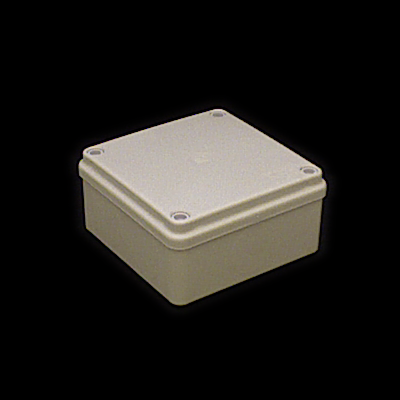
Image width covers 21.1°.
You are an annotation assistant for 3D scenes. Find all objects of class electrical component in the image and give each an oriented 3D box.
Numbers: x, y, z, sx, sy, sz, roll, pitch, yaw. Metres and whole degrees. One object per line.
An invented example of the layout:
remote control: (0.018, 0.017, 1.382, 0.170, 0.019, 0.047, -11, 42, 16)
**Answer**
electrical component: (0.000, 0.000, 0.636, 0.109, 0.057, 0.107, -20, 37, -30)
